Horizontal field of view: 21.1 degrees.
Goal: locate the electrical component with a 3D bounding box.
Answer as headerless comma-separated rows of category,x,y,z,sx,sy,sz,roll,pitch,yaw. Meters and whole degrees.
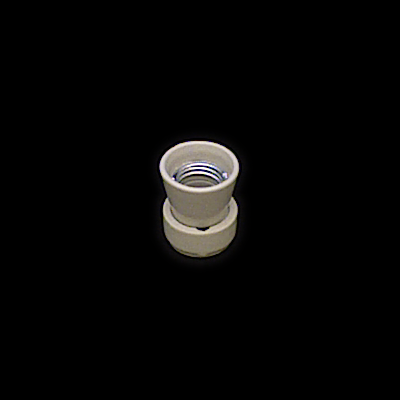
electrical component,0.000,0.000,0.630,0.045,0.055,0.044,0,42,0
